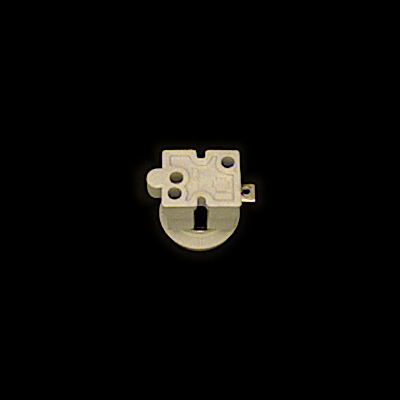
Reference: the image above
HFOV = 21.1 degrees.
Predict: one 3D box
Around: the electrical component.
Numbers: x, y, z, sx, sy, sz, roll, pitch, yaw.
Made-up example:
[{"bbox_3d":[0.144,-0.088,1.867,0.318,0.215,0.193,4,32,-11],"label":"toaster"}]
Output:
[{"bbox_3d":[0.000,0.000,0.637,0.066,0.048,0.055,0,-28,-1],"label":"electrical component"}]
